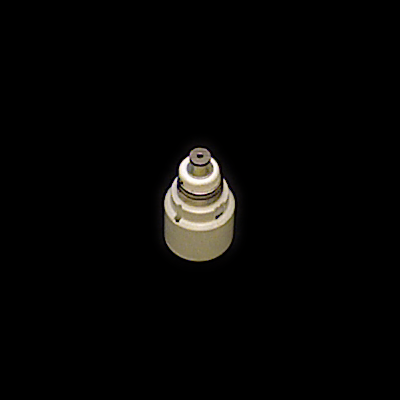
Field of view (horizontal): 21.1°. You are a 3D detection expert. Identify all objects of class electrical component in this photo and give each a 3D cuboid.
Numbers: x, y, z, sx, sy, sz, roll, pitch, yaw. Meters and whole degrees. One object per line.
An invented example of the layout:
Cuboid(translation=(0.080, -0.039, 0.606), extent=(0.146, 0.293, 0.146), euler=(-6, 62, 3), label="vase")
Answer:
Cuboid(translation=(0.000, 0.000, 0.620), extent=(0.040, 0.040, 0.078), euler=(0, -39, -1), label="electrical component")
